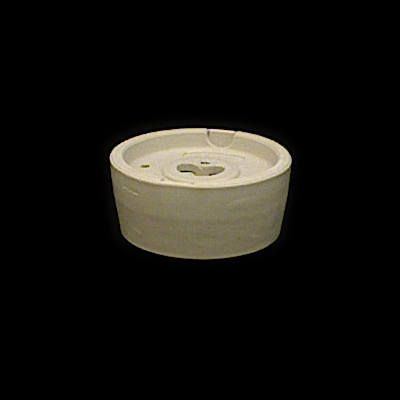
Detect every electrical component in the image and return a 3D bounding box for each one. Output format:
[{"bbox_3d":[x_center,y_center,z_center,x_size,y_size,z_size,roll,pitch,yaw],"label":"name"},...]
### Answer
[{"bbox_3d":[0.000,0.000,0.649,0.108,0.061,0.106,1,22,0],"label":"electrical component"}]
